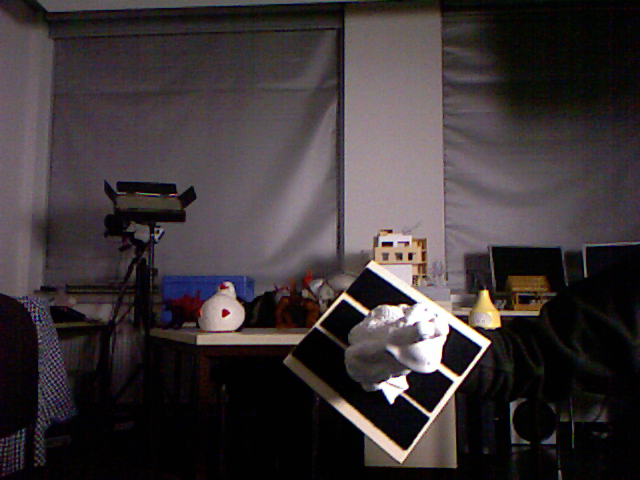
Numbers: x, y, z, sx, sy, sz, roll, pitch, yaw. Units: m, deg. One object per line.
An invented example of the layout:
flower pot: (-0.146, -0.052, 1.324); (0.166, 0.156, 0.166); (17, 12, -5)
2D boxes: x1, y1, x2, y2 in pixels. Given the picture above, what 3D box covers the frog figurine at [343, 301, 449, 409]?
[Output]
frog figurine: (0.090, 0.127, 0.640); (0.138, 0.125, 0.156); (-30, -27, -11)
